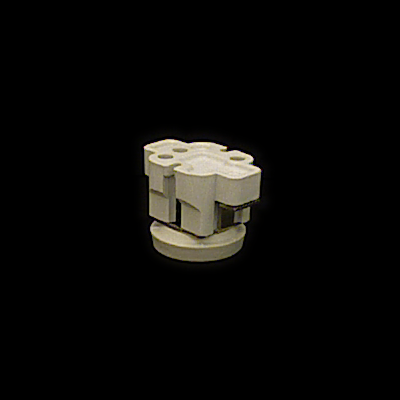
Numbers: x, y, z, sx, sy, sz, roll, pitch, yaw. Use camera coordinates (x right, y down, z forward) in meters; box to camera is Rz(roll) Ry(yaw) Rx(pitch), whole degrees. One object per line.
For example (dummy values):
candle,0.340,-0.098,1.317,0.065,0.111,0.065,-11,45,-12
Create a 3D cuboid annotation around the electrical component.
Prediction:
electrical component,0.000,0.000,0.646,0.077,0.057,0.058,21,29,38
